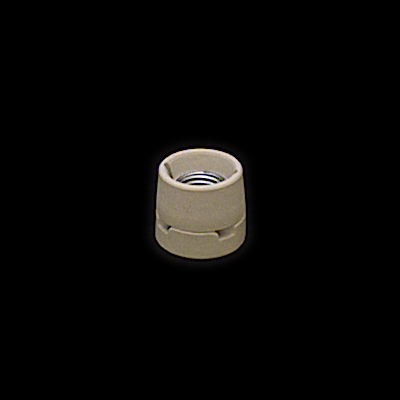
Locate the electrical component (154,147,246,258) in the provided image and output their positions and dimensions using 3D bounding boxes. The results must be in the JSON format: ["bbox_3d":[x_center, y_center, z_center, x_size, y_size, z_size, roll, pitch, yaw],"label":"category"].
[{"bbox_3d":[0.000,0.000,0.638,0.055,0.047,0.055,0,31,0],"label":"electrical component"}]
